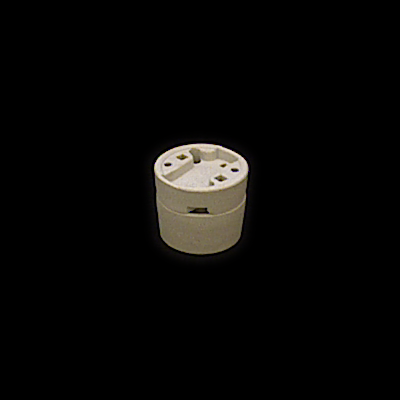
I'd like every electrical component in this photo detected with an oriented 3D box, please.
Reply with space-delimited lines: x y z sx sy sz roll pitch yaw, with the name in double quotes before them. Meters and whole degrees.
"electrical component" 0.000 0.000 0.637 0.055 0.047 0.055 1 31 0
